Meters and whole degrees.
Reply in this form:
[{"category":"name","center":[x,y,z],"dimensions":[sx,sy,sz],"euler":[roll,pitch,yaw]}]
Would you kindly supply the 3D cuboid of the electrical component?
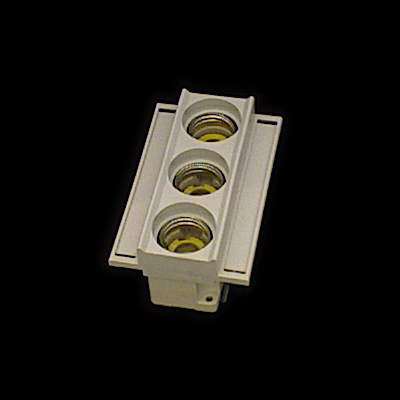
[{"category":"electrical component","center":[0.000,0.000,0.638],"dimensions":[0.078,0.121,0.063],"euler":[8,-36,8]}]
